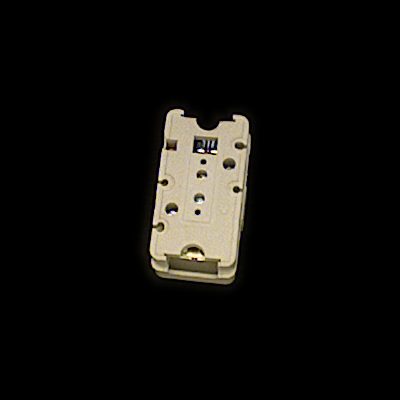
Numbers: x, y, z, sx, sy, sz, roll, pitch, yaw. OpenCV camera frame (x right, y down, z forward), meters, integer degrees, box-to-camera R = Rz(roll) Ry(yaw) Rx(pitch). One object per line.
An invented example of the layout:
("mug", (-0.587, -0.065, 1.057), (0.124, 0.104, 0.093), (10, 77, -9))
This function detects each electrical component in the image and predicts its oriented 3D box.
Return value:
("electrical component", (0.000, 0.000, 0.636), (0.050, 0.090, 0.055), (6, -17, 3))
